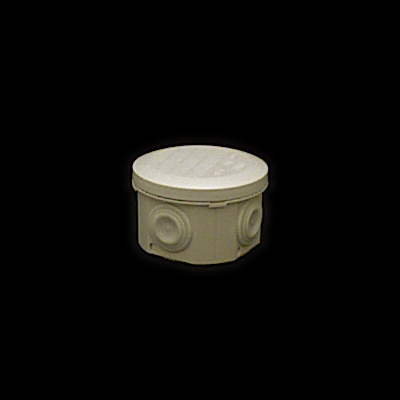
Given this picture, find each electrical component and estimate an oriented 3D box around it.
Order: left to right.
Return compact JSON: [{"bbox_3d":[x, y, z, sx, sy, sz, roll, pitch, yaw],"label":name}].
[{"bbox_3d":[0.000,0.000,0.638,0.080,0.051,0.079,1,21,0],"label":"electrical component"}]
